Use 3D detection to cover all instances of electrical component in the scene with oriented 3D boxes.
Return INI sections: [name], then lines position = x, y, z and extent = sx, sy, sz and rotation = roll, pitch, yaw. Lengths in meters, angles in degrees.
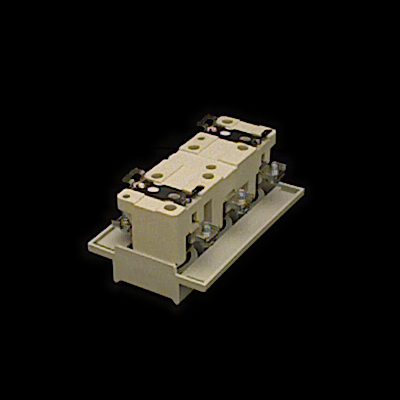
[electrical component]
position = 0.000, 0.000, 0.642
extent = 0.078, 0.064, 0.121
rotation = 18, 35, 26
